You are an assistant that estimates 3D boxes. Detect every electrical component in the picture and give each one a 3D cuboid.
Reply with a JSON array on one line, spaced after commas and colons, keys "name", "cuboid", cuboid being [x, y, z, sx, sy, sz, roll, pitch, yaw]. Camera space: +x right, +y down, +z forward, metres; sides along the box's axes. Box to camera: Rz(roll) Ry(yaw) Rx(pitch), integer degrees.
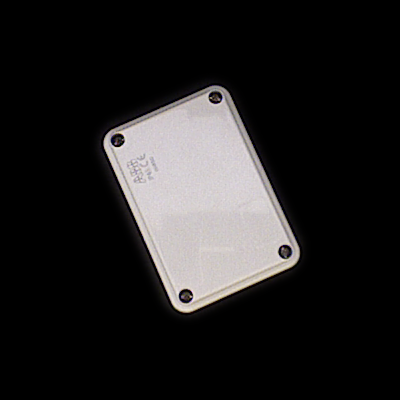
[{"name": "electrical component", "cuboid": [0.000, 0.000, 0.627, 0.078, 0.113, 0.057, -24, -6, -2]}]
